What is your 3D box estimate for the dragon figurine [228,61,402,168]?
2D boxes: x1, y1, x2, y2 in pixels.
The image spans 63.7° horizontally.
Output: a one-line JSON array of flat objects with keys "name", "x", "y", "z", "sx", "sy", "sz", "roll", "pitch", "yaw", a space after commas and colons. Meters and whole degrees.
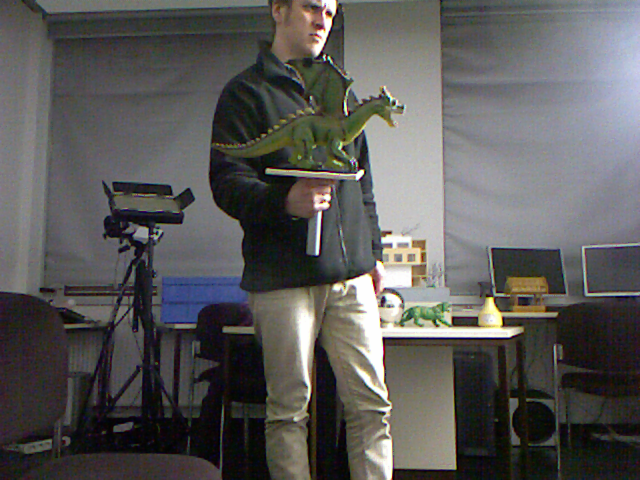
[{"name": "dragon figurine", "x": -0.019, "y": -0.290, "z": 1.198, "sx": 0.410, "sy": 0.240, "sz": 0.123, "roll": 7, "pitch": 14, "yaw": 8}]
